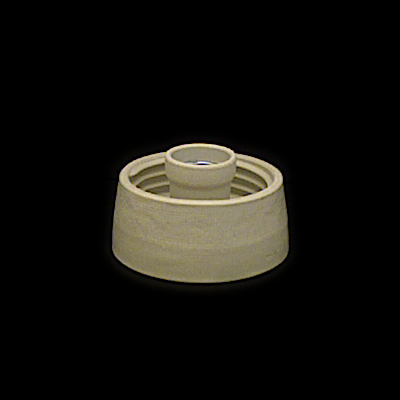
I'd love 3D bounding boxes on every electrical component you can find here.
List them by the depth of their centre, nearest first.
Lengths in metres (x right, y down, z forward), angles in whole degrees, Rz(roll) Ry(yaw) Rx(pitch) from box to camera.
[{"bbox_3d":[0.000,0.000,0.646,0.108,0.061,0.106,1,22,0],"label":"electrical component"}]
